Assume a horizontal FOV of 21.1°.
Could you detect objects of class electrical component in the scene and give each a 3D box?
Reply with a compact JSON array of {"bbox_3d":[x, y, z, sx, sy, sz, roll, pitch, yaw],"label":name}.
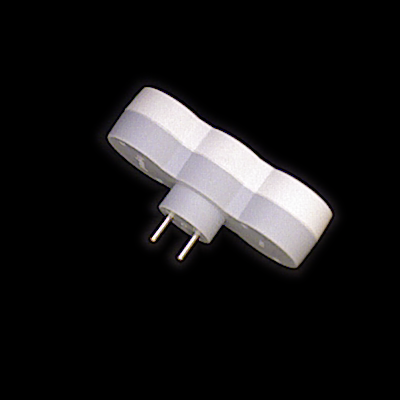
[{"bbox_3d":[0.000,0.000,0.630,0.138,0.074,0.052,34,-12,9],"label":"electrical component"}]
